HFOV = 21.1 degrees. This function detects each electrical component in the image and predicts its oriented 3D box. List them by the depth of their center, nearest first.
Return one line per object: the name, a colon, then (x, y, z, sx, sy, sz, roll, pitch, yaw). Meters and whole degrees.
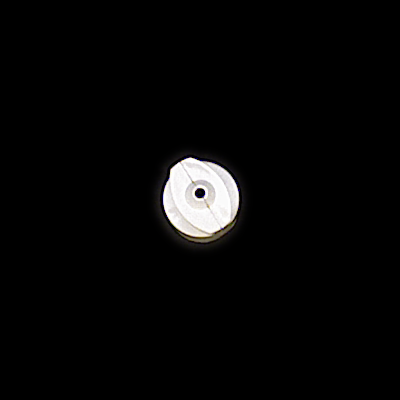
electrical component: (0.000, 0.000, 0.616, 0.043, 0.043, 0.080, 0, -6, 1)
